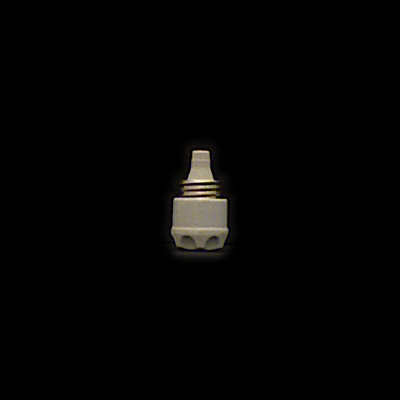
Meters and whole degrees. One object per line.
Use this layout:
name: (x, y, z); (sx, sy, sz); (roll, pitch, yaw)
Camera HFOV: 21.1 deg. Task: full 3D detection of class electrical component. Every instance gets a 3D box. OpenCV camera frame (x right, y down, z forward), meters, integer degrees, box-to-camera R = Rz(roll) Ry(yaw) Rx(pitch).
electrical component: (0.000, 0.000, 0.663); (0.035, 0.061, 0.035); (0, 3, 0)
